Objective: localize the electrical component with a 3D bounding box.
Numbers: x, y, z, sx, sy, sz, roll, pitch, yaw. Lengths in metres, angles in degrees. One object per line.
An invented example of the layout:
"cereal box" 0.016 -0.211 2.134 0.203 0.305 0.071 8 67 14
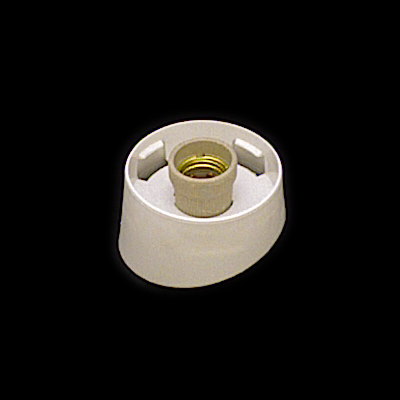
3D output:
"electrical component" 0.000 0.000 0.630 0.099 0.065 0.098 0 42 0
